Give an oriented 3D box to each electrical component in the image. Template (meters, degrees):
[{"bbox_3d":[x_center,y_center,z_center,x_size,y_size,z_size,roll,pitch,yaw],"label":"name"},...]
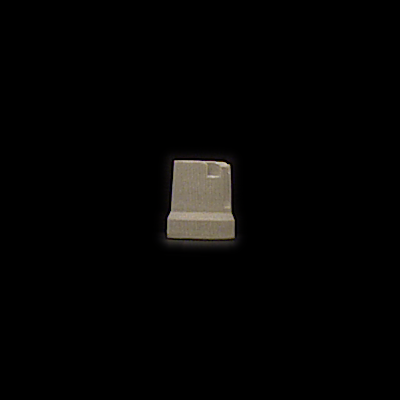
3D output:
[{"bbox_3d":[0.000,0.000,0.649,0.040,0.046,0.040,1,1,0],"label":"electrical component"}]
